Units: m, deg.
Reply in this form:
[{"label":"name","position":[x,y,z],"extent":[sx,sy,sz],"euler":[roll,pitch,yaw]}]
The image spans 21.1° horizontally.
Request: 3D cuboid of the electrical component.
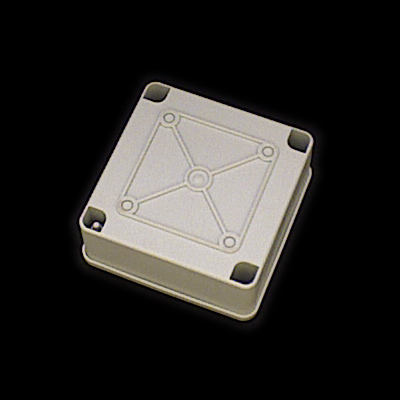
[{"label":"electrical component","position":[0.000,0.000,0.627],"extent":[0.108,0.109,0.056],"euler":[19,-25,10]}]
